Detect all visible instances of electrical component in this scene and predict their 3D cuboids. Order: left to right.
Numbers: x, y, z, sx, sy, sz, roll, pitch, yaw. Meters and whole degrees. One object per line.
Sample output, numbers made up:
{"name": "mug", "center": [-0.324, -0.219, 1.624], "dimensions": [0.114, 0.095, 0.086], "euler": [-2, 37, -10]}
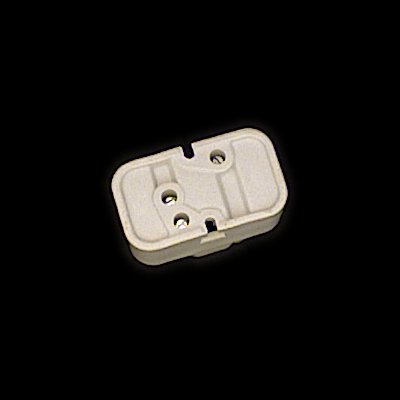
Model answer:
{"name": "electrical component", "center": [0.000, 0.000, 0.635], "dimensions": [0.095, 0.054, 0.059], "euler": [-16, -15, -5]}
